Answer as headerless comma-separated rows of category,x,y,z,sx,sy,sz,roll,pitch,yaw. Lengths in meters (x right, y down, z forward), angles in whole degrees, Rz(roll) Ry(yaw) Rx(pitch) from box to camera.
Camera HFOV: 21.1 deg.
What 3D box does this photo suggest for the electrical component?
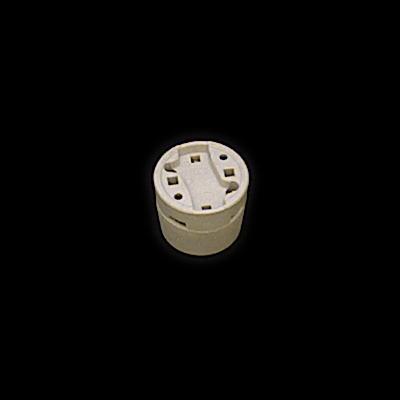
electrical component,0.000,0.000,0.635,0.055,0.055,0.047,0,-38,-1
